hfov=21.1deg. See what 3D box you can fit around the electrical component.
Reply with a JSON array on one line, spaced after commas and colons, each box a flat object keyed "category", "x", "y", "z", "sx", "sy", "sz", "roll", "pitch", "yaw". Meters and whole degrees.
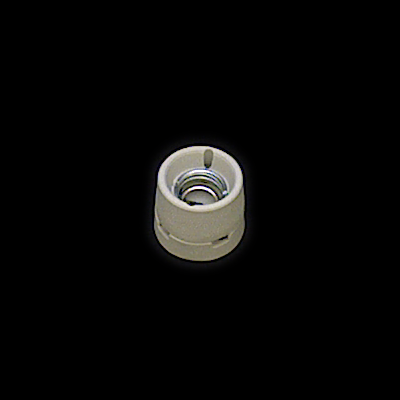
[{"category": "electrical component", "x": 0.000, "y": 0.000, "z": 0.635, "sx": 0.055, "sy": 0.055, "sz": 0.047, "roll": 0, "pitch": -38, "yaw": -1}]
